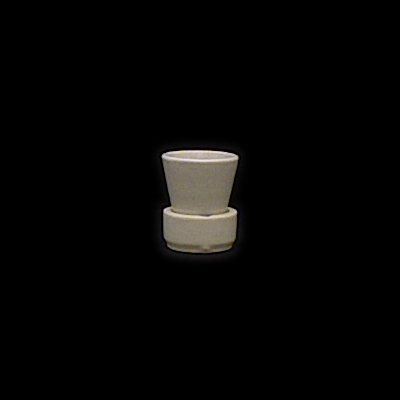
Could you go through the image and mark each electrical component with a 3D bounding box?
[{"bbox_3d":[0.000,0.000,0.642,0.045,0.055,0.044,1,11,0],"label":"electrical component"}]
